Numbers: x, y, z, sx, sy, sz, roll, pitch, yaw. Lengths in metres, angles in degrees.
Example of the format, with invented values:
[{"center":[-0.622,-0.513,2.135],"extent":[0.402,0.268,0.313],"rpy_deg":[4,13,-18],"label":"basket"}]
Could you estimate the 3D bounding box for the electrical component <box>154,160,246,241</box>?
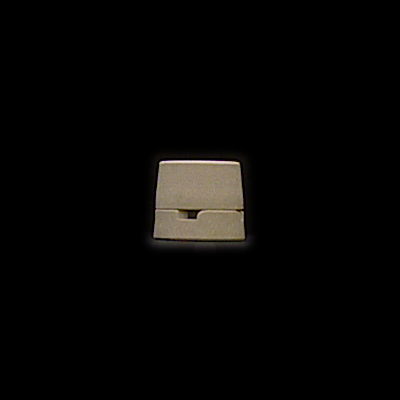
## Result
[{"center":[0.000,0.000,0.649],"extent":[0.055,0.047,0.055],"rpy_deg":[0,1,0],"label":"electrical component"}]
